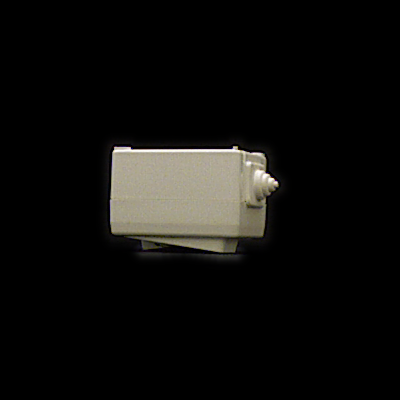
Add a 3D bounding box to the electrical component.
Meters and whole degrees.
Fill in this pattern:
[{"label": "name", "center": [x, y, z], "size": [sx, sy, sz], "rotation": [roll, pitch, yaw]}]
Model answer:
[{"label": "electrical component", "center": [0.000, 0.000, 0.650], "size": [0.096, 0.061, 0.061], "rotation": [1, 0, 20]}]
